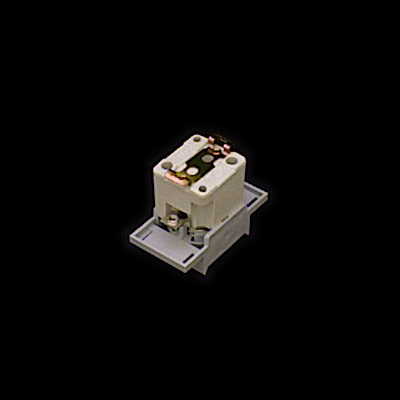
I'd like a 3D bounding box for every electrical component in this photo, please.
[{"bbox_3d":[0.000,0.000,0.629,0.042,0.064,0.080,27,48,26],"label":"electrical component"}]
